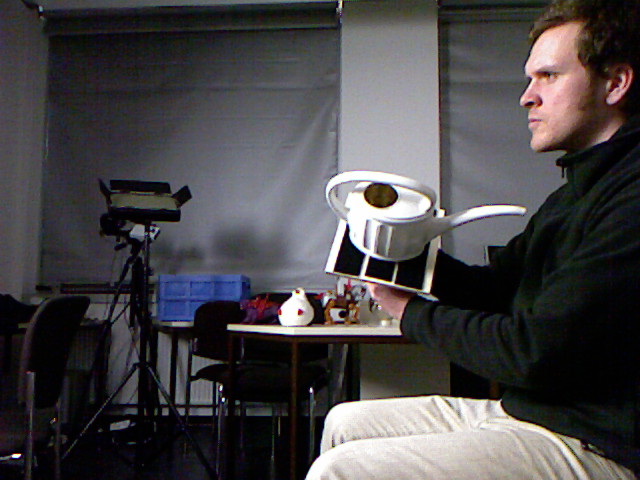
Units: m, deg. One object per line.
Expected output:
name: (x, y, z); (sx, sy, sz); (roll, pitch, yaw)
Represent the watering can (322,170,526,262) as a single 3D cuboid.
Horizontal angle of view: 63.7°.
watering can: (0.172, -0.036, 0.948); (0.349, 0.107, 0.220); (13, -31, 9)
